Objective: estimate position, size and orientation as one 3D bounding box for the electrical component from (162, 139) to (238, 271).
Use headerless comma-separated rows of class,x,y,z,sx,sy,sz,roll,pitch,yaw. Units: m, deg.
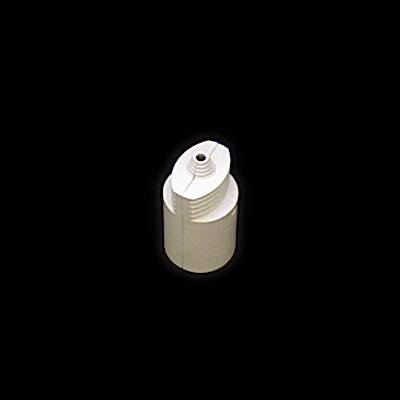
electrical component,0.000,0.000,0.619,0.043,0.043,0.081,0,-38,0
